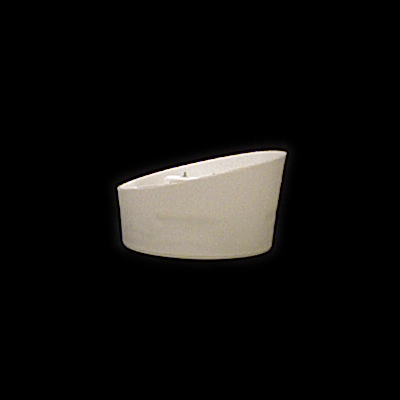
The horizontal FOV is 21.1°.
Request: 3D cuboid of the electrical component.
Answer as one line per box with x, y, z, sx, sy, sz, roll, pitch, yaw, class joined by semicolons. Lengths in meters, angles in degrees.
0.000;0.000;0.644;0.099;0.064;0.098;2;10;0;electrical component
